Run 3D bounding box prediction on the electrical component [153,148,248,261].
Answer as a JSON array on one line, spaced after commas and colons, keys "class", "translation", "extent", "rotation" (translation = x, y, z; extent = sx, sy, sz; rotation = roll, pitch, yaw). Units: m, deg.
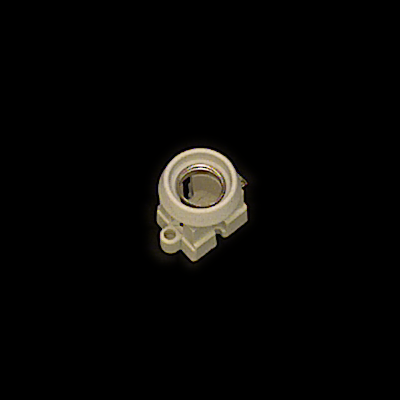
[{"class": "electrical component", "translation": [0.000, 0.000, 0.638], "extent": [0.067, 0.048, 0.055], "rotation": [-38, -19, -17]}]
